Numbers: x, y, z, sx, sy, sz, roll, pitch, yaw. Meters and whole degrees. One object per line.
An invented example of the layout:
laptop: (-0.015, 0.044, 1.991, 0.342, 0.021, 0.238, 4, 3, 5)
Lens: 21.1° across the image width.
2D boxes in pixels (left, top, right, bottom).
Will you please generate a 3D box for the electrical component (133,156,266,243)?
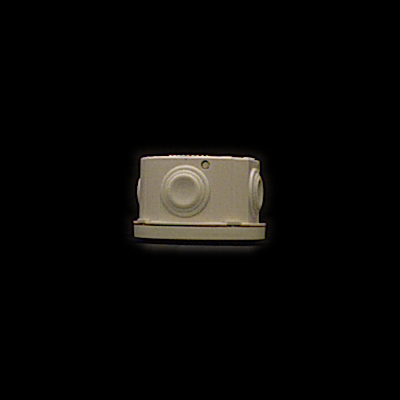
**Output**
electrical component: (0.000, 0.000, 0.651, 0.080, 0.051, 0.080, 1, 0, 0)
